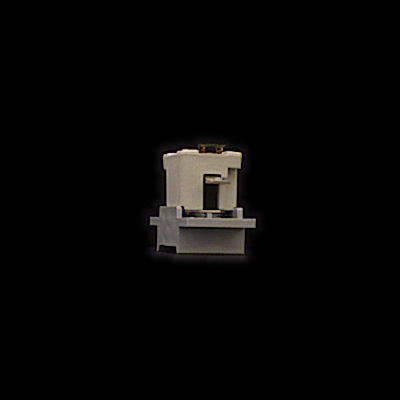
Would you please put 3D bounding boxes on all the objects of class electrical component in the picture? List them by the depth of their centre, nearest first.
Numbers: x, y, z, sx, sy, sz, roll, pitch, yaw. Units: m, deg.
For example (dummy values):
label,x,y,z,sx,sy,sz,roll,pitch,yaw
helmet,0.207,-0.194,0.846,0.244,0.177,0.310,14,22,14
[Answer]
label,x,y,z,sx,sy,sz,roll,pitch,yaw
electrical component,0.000,0.000,0.650,0.042,0.064,0.080,1,1,-19
